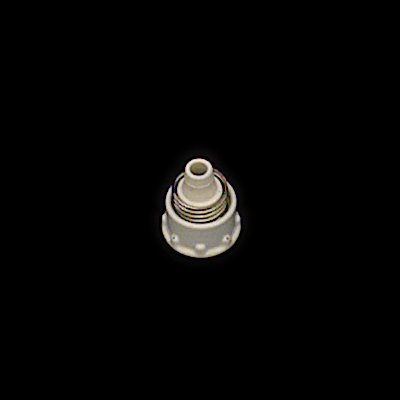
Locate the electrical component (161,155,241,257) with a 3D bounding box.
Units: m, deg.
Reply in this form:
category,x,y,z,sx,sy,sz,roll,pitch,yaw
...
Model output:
category,x,y,z,sx,sy,sz,roll,pitch,yaw
electrical component,0.000,0.000,0.634,0.048,0.048,0.062,0,-37,1
